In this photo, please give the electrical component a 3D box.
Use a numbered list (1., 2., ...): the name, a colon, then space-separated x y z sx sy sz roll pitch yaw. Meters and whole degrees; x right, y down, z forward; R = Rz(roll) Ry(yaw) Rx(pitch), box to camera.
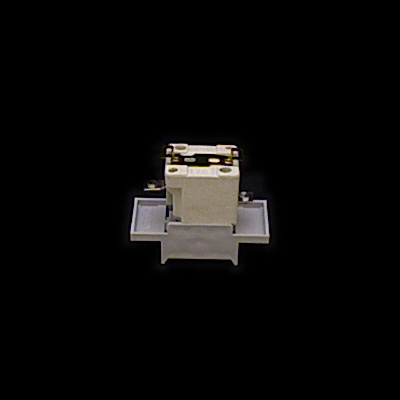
1. electrical component: 0.000 0.000 0.634 0.081 0.064 0.041 0 31 0
